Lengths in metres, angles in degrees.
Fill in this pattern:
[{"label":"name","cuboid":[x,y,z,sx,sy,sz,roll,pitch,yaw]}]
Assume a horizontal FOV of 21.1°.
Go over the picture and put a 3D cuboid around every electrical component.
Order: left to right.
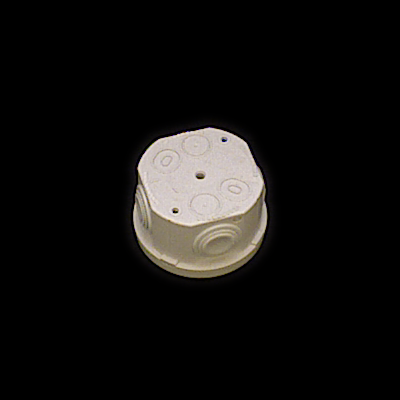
[{"label":"electrical component","cuboid":[0.000,0.000,0.631,0.080,0.080,0.051,0,-37,0]}]
